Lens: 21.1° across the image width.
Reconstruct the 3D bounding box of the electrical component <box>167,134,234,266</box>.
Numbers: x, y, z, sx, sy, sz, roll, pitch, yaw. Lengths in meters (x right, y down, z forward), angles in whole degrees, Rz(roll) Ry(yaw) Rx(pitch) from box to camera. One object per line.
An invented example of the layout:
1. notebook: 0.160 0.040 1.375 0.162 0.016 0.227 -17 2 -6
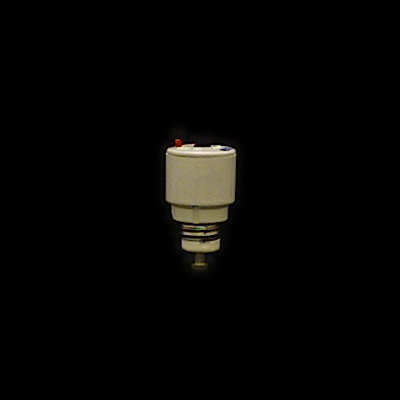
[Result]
1. electrical component: 0.000 0.000 0.643 0.040 0.079 0.040 1 11 0
